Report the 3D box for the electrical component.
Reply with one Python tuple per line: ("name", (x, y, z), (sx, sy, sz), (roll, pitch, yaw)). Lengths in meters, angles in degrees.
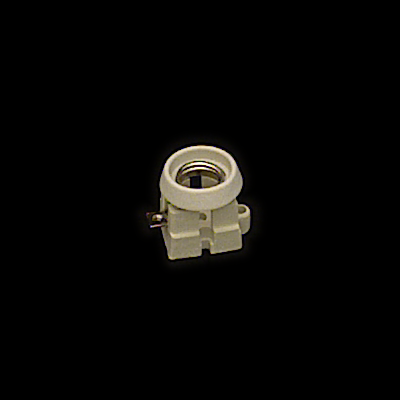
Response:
("electrical component", (0.000, 0.000, 0.639), (0.067, 0.056, 0.048), (-9, 42, -11))
